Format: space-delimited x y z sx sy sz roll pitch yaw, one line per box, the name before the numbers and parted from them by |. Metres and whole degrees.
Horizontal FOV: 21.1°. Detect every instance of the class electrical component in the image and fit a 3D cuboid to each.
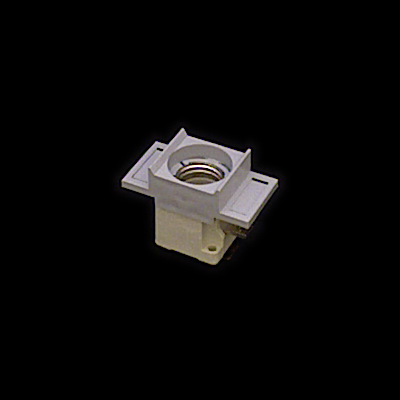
electrical component | 0.000 0.000 0.628 0.080 0.064 0.042 19 44 20
